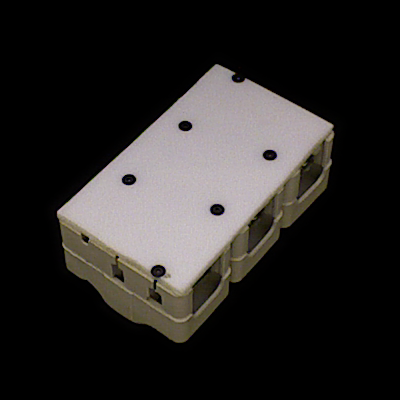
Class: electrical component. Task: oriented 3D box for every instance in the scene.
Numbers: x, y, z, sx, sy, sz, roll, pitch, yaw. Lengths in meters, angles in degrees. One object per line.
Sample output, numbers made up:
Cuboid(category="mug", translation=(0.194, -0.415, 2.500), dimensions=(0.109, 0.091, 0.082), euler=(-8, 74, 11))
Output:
Cuboid(category="electrical component", translation=(0.000, 0.000, 0.635), dimensions=(0.089, 0.149, 0.063), euler=(32, -32, 21))
